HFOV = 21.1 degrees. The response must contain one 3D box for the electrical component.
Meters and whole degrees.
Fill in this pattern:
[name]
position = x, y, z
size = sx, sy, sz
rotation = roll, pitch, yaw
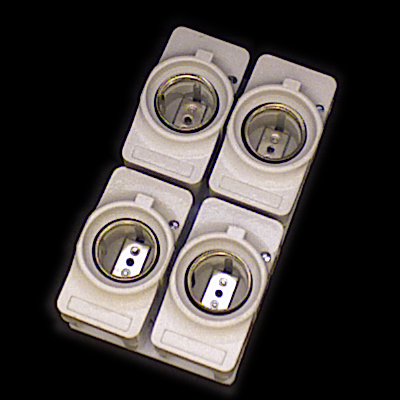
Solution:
[electrical component]
position = 0.000, 0.000, 0.625
size = 0.105, 0.187, 0.060
rotation = 20, -16, 6
